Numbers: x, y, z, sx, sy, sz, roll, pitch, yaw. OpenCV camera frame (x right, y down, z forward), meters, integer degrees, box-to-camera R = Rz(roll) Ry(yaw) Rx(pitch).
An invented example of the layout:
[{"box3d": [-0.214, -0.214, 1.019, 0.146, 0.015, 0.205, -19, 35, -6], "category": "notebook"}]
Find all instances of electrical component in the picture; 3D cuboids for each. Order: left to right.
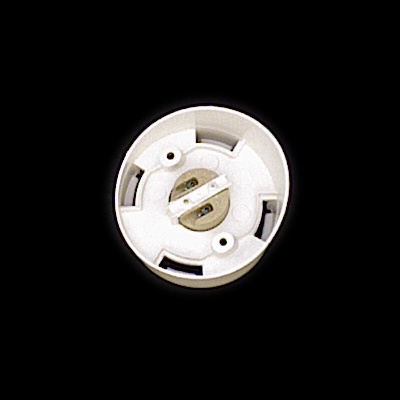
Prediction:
[{"box3d": [0.000, 0.000, 0.624, 0.099, 0.099, 0.064, 0, -18, 0], "category": "electrical component"}]
